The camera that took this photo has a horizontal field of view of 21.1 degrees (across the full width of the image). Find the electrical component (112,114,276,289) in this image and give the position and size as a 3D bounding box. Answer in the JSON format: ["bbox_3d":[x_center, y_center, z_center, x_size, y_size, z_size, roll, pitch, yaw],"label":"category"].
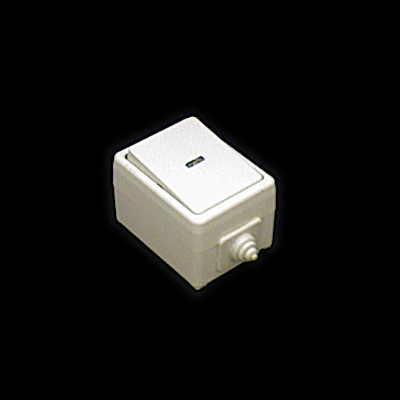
[{"bbox_3d":[0.000,0.000,0.629,0.061,0.061,0.095,-29,50,-29],"label":"electrical component"}]
